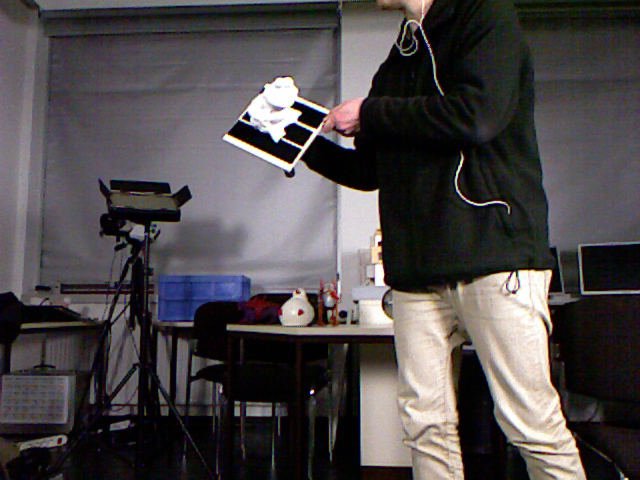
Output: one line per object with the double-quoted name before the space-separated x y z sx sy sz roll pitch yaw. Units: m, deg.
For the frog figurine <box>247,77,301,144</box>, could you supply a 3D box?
"frog figurine" -0.117 -0.336 1.257 0.138 0.125 0.156 -32 -30 -11
